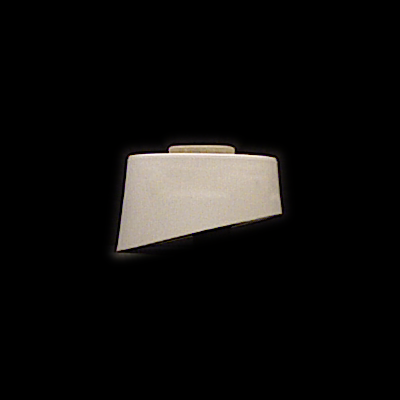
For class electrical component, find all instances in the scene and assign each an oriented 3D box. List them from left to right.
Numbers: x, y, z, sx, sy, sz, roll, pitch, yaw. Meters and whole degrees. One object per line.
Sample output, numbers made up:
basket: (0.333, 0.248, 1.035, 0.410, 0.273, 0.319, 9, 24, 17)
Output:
electrical component: (0.000, 0.000, 0.650, 0.099, 0.064, 0.099, 1, 0, 0)
